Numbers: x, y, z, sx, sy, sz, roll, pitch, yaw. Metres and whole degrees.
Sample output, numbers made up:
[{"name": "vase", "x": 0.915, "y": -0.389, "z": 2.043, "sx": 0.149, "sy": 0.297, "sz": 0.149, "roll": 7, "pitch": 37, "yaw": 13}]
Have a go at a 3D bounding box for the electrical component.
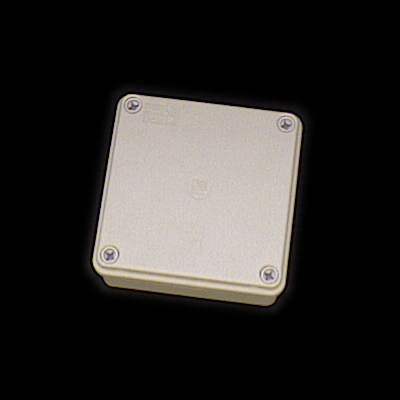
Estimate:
[{"name": "electrical component", "x": 0.000, "y": 0.000, "z": 0.629, "sx": 0.109, "sy": 0.109, "sz": 0.056, "roll": 7, "pitch": -16, "yaw": 2}]
